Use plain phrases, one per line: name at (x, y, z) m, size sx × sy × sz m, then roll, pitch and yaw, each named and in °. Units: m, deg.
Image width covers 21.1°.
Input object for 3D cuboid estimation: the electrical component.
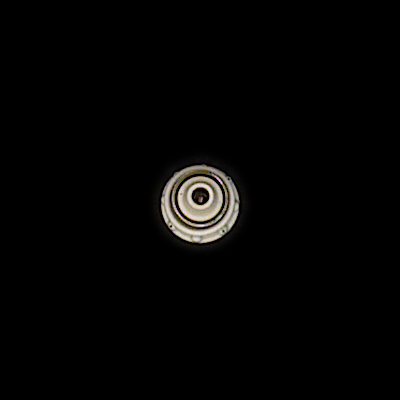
electrical component at (0.000, 0.000, 0.635) m, size 0.048 × 0.048 × 0.062 m, roll 0°, pitch -5°, yaw -1°
